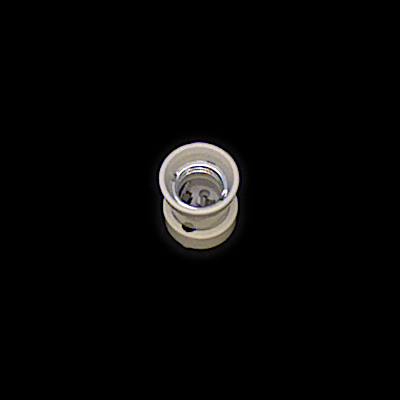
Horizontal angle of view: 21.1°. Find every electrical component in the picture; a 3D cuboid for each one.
[{"bbox_3d":[0.000,0.000,0.627,0.045,0.045,0.055,0,-28,0],"label":"electrical component"}]
